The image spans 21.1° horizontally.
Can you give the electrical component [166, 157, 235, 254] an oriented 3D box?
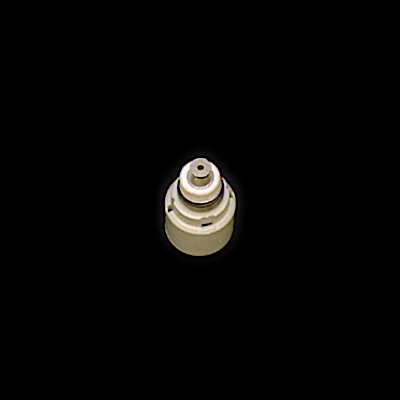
[{"bbox_3d":[0.000,0.000,0.618,0.040,0.040,0.078,0,-28,-1],"label":"electrical component"}]
